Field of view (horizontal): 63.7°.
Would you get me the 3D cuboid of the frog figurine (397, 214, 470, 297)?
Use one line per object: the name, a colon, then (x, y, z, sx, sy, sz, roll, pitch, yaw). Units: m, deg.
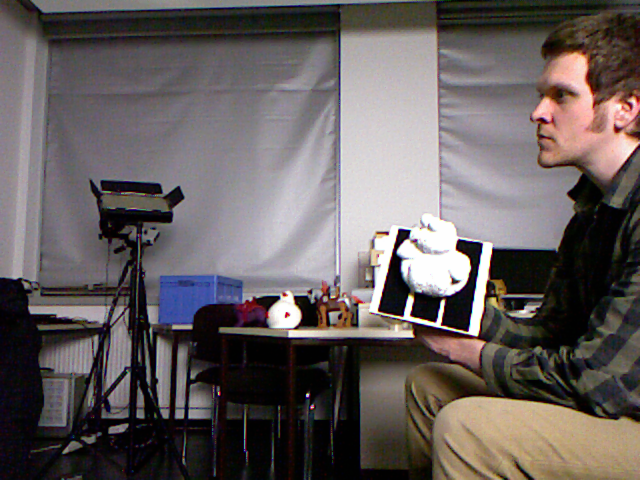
frog figurine: (0.214, 0.033, 0.958, 0.139, 0.125, 0.156, 30, -23, 19)
